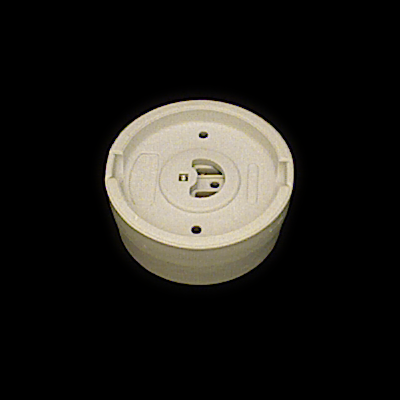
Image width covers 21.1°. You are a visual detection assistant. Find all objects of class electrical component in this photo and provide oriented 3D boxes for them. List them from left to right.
[{"bbox_3d":[0.000,0.000,0.634,0.108,0.107,0.060,0,-37,-1],"label":"electrical component"}]
